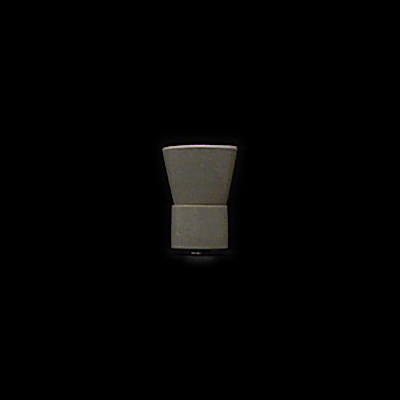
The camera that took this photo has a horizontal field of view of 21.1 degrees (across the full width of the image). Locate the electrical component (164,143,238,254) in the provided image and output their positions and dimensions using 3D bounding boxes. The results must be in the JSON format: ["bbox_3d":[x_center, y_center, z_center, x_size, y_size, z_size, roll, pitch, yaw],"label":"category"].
[{"bbox_3d":[0.000,0.000,0.648,0.044,0.065,0.044,0,2,0],"label":"electrical component"}]
